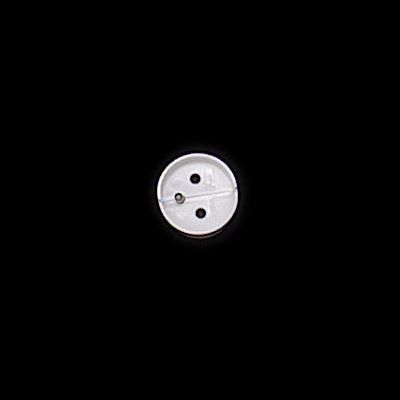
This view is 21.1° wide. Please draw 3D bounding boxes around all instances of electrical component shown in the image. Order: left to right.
[{"bbox_3d":[0.000,0.000,0.615,0.043,0.043,0.080,0,-7,1],"label":"electrical component"}]
